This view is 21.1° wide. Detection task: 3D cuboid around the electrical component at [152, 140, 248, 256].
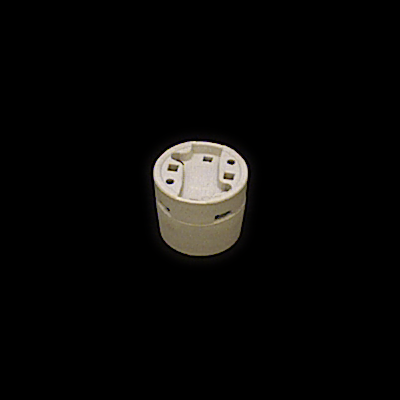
[{"bbox_3d":[0.000,0.000,0.635,0.055,0.047,0.055,0,42,0],"label":"electrical component"}]
